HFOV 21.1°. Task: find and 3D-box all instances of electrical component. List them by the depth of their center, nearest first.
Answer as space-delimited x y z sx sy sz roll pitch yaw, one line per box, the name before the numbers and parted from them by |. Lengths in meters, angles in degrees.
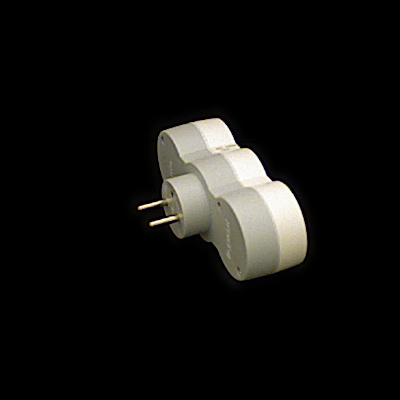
electrical component | 0.000 0.000 0.644 0.074 0.053 0.135 -14 35 -20
